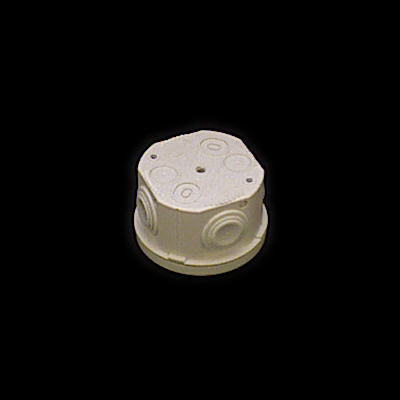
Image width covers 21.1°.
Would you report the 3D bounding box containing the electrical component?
[{"bbox_3d":[0.000,0.000,0.634,0.080,0.051,0.080,0,42,0],"label":"electrical component"}]
